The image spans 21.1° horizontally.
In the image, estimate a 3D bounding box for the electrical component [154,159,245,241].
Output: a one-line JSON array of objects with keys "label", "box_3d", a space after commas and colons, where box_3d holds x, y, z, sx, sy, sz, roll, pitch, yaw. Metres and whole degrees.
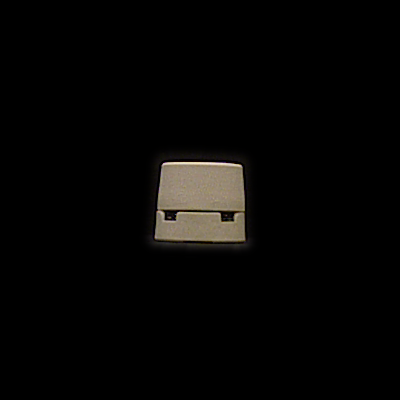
[{"label": "electrical component", "box_3d": [0.000, 0.000, 0.652, 0.055, 0.047, 0.055, 2, 0, 0]}]
